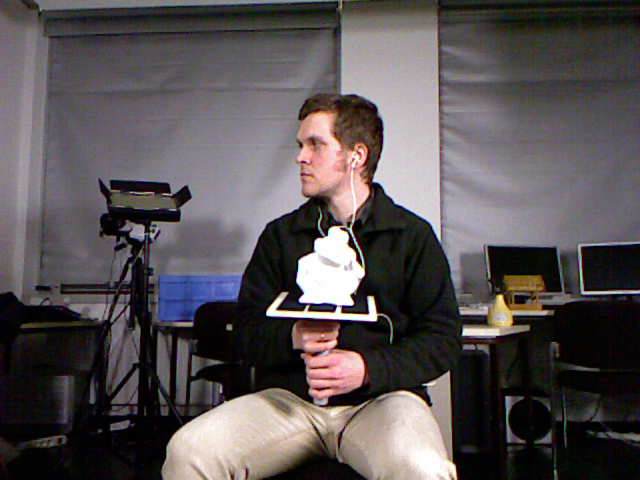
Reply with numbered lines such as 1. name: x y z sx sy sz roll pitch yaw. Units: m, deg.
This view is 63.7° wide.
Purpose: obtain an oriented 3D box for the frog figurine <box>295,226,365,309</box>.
1. frog figurine: 0.019 0.049 1.026 0.137 0.159 0.123 5 7 23
